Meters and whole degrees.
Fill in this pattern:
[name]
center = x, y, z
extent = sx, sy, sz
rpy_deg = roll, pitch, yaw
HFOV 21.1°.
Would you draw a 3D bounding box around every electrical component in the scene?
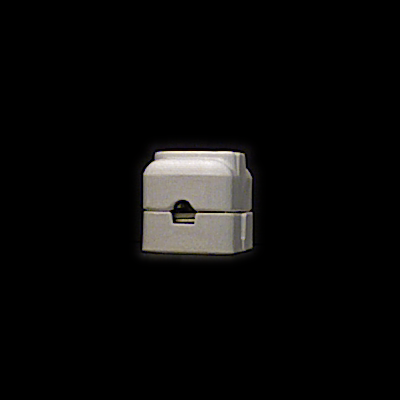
[electrical component]
center = 0.000, 0.000, 0.656
extent = 0.053, 0.059, 0.095
rpy_deg = 1, 1, 11
